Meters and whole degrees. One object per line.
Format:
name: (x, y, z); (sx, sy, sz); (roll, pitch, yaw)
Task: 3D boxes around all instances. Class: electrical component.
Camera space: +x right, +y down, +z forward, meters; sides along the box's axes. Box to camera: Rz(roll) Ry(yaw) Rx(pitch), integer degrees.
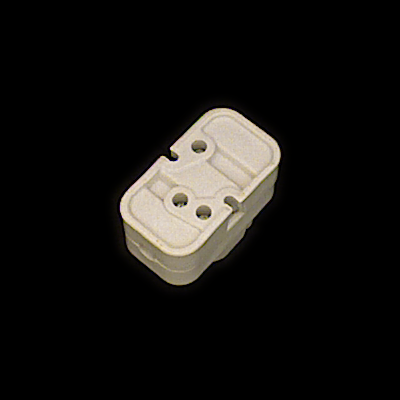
electrical component: (0.000, 0.000, 0.635); (0.053, 0.095, 0.059); (38, -21, 17)
